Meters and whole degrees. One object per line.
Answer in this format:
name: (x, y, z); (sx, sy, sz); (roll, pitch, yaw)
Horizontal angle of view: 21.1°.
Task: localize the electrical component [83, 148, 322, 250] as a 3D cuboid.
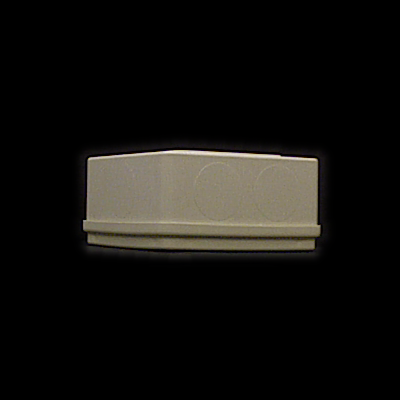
electrical component: (0.000, 0.000, 0.648); (0.109, 0.056, 0.108); (1, 0, -32)
